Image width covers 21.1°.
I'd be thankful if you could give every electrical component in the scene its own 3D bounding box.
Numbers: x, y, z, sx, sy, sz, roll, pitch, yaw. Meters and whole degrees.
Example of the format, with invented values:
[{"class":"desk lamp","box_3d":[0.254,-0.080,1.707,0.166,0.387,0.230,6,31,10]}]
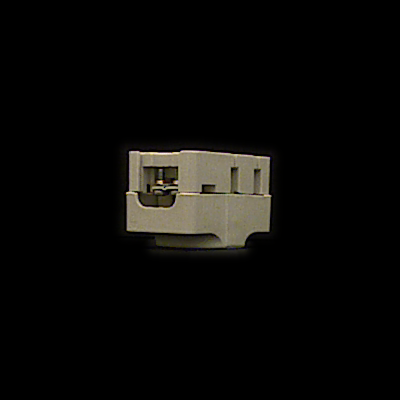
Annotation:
[{"class":"electrical component","box_3d":[0.000,0.000,0.657,0.049,0.056,0.090,2,1,34]}]
